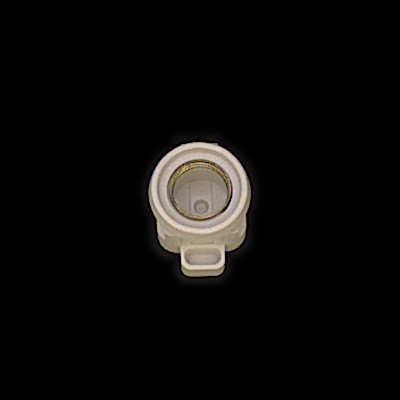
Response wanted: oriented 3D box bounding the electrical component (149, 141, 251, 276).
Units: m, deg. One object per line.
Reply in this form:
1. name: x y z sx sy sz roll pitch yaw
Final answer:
1. electrical component: 0.000 0.000 0.629 0.058 0.079 0.056 -2 -17 -1
